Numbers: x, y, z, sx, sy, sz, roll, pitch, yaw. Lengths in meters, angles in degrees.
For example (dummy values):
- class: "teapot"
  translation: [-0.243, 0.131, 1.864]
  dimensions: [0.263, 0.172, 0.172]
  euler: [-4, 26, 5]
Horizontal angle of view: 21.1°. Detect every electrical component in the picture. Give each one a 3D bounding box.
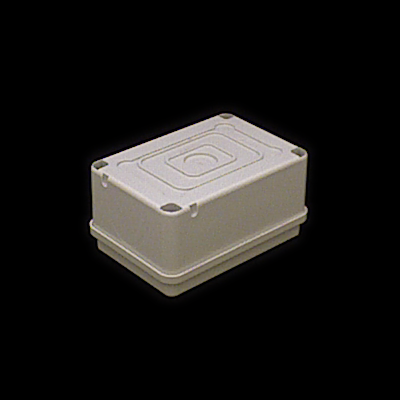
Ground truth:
- class: "electrical component"
  translation: [0.000, 0.000, 0.635]
  dimensions: [0.113, 0.058, 0.077]
  euler: [-24, 39, -35]
